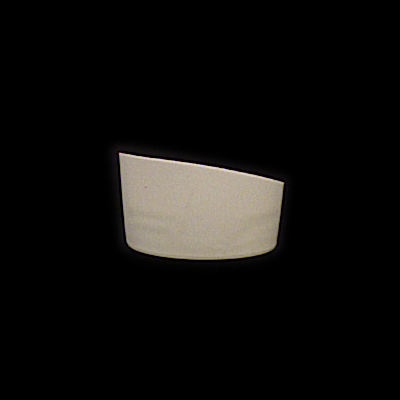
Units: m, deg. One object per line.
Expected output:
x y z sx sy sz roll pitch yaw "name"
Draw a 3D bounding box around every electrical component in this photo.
0.000 0.000 0.642 0.099 0.064 0.098 1 11 0 "electrical component"
